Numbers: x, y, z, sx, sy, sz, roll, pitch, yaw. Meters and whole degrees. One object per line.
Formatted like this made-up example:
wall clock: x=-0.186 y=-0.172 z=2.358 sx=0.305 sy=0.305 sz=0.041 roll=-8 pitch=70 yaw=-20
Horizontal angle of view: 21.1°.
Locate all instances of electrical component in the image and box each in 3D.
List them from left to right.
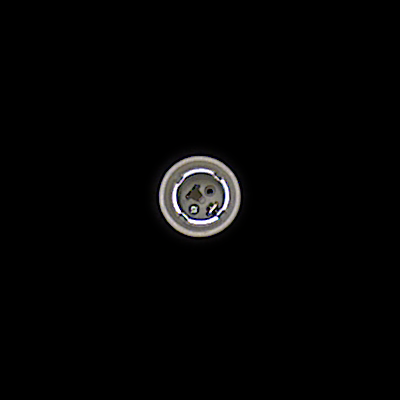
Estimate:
electrical component: x=0.000 y=0.000 z=0.625 sx=0.044 sy=0.044 sz=0.065 roll=0 pitch=-5 yaw=1
